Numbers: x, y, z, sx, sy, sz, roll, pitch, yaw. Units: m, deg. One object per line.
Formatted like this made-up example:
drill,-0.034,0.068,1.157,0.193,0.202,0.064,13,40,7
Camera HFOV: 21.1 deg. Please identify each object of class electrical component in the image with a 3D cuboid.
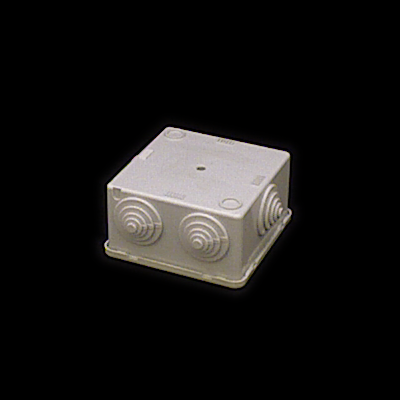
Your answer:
electrical component,0.000,0.000,0.637,0.099,0.049,0.099,13,33,19
